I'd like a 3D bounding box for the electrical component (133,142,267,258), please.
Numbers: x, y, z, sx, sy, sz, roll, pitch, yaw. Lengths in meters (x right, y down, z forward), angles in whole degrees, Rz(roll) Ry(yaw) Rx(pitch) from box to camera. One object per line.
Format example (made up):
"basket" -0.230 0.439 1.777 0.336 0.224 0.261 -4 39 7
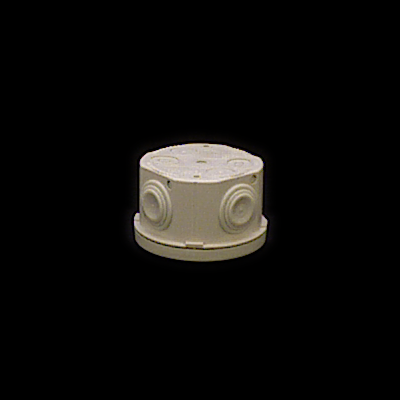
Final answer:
"electrical component" 0.000 0.000 0.642 0.080 0.051 0.079 1 20 0
